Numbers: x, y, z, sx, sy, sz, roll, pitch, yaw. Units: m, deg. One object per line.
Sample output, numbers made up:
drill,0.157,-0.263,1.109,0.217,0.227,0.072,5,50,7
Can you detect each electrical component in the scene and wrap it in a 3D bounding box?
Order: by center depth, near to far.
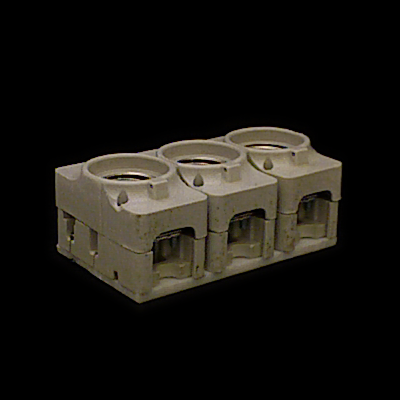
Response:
electrical component,0.000,0.000,0.644,0.149,0.063,0.088,-15,26,-35
